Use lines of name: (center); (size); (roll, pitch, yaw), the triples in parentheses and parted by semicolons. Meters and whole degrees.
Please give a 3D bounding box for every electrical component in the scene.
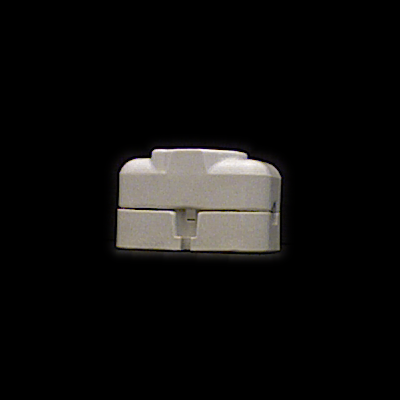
electrical component: (0.000, 0.000, 0.655); (0.095, 0.059, 0.054); (1, 1, 16)
